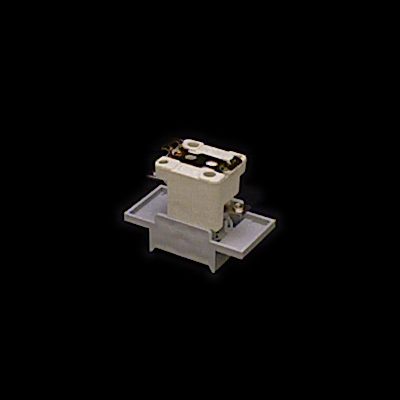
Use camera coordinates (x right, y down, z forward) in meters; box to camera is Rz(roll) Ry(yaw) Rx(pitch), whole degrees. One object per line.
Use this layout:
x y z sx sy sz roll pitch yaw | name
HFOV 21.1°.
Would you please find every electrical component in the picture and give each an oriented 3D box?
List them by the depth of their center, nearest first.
0.000 0.000 0.634 0.080 0.064 0.042 17 35 25 | electrical component
